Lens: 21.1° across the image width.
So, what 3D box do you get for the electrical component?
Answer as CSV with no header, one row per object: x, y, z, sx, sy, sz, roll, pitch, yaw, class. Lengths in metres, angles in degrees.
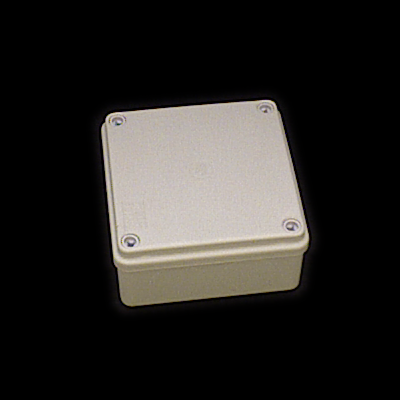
0.000,0.000,0.631,0.109,0.108,0.056,-5,-38,-5,electrical component
